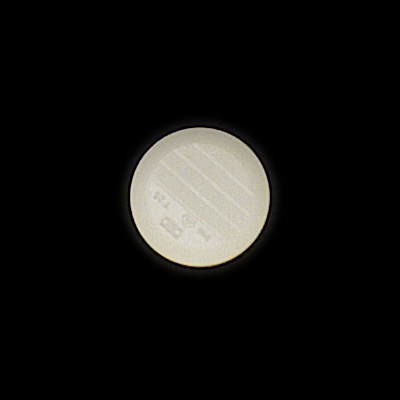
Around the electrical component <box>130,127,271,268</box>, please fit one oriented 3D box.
[{"bbox_3d":[0.000,0.000,0.631,0.080,0.080,0.050,0,-7,0],"label":"electrical component"}]
